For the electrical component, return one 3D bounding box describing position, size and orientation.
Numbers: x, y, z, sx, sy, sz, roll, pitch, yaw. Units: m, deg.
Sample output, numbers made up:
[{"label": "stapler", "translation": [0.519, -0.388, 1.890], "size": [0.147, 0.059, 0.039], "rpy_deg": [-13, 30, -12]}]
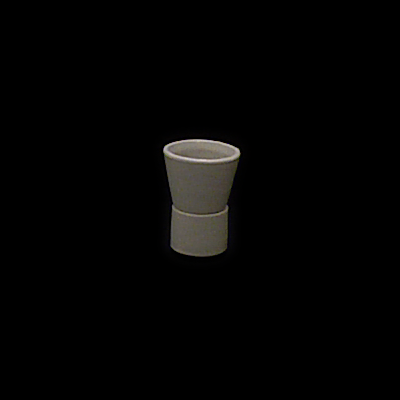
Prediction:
[{"label": "electrical component", "translation": [0.000, 0.000, 0.640], "size": [0.044, 0.066, 0.044], "rpy_deg": [1, 20, 0]}]
